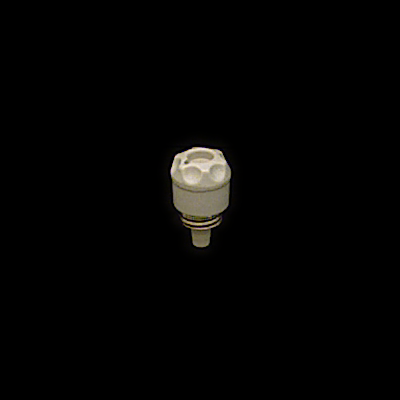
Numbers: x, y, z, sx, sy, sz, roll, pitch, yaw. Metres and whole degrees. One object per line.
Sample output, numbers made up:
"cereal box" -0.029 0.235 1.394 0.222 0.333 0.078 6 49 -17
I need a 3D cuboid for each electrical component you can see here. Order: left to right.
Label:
"electrical component" 0.000 0.000 0.640 0.035 0.062 0.035 0 32 0
